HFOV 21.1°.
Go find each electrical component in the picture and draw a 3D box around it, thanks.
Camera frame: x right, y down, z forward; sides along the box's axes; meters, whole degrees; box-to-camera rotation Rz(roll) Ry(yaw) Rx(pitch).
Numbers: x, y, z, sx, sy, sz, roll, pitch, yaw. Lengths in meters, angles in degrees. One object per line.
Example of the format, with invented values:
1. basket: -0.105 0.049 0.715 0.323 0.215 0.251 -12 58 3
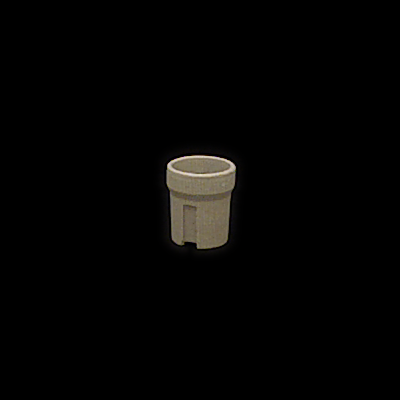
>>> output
1. electrical component: 0.000 0.000 0.642 0.040 0.047 0.039 1 21 0
